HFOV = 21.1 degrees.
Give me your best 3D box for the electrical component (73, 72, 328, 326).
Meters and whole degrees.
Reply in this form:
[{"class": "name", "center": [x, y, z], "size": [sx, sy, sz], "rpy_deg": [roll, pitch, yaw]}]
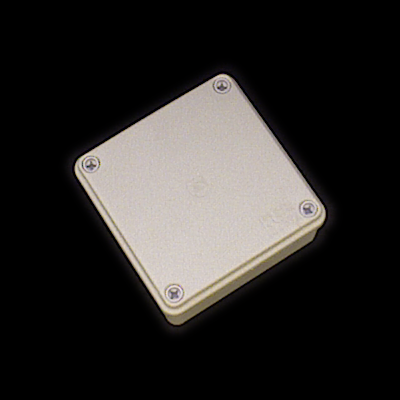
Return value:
[{"class": "electrical component", "center": [0.000, 0.000, 0.629], "size": [0.109, 0.109, 0.056], "rpy_deg": [-32, -15, -9]}]
